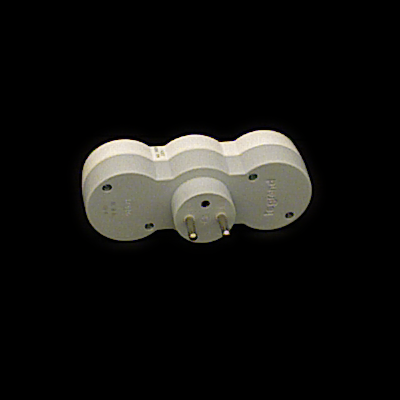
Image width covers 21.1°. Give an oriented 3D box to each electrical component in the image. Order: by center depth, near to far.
[{"bbox_3d":[0.000,0.000,0.641,0.139,0.053,0.072,-4,34,-9],"label":"electrical component"}]
